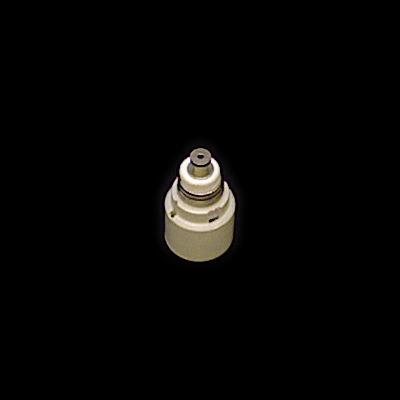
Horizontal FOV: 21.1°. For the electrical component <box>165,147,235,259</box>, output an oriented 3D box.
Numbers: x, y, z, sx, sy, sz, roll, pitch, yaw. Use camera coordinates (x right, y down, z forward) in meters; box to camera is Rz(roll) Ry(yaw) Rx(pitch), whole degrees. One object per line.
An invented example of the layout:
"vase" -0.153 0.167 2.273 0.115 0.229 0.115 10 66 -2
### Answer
"electrical component" 0.000 0.000 0.620 0.040 0.040 0.079 0 -39 -1
